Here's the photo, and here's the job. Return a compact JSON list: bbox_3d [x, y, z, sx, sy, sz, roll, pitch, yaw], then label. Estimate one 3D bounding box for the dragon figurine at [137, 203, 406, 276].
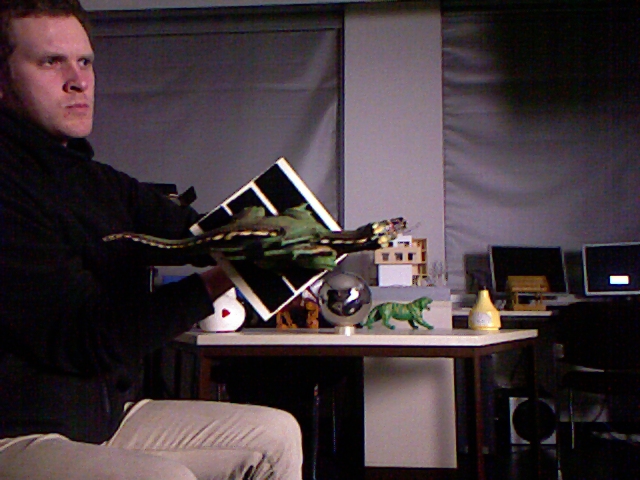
[{"bbox_3d":[-0.080,-0.002,0.757,0.412,0.123,0.243,-5,-1,-7],"label":"dragon figurine"}]
